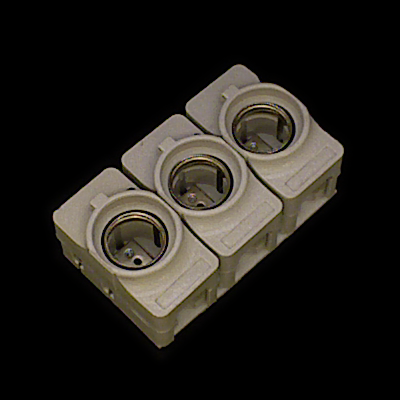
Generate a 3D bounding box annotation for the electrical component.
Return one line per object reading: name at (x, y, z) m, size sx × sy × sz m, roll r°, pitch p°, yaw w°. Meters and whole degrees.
electrical component at (0.000, 0.000, 0.631) m, size 0.150 × 0.089 × 0.062 m, roll -41°, pitch -21°, yaw -19°
